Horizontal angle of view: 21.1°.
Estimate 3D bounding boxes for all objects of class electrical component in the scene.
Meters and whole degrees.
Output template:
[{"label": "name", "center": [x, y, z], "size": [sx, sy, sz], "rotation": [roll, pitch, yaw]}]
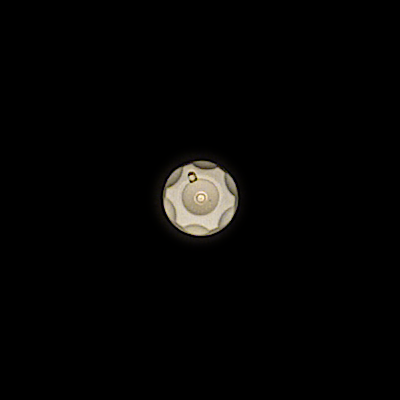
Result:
[{"label": "electrical component", "center": [0.000, 0.000, 0.635], "size": [0.043, 0.043, 0.062], "rotation": [0, -5, 0]}]
